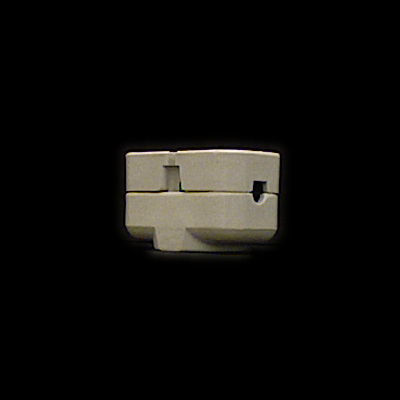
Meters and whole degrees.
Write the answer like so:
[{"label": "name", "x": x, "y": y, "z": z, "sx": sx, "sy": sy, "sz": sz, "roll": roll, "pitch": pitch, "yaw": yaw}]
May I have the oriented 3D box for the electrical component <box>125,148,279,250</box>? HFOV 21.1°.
[{"label": "electrical component", "x": 0.000, "y": 0.000, "z": 0.659, "sx": 0.094, "sy": 0.059, "sz": 0.054, "roll": 1, "pitch": 1, "yaw": 42}]
